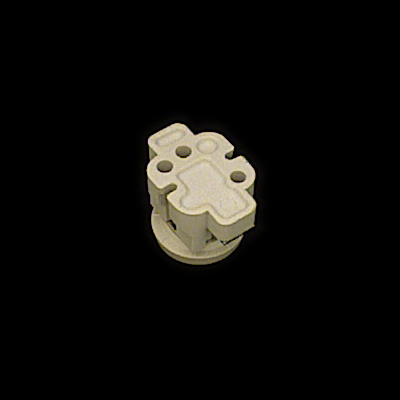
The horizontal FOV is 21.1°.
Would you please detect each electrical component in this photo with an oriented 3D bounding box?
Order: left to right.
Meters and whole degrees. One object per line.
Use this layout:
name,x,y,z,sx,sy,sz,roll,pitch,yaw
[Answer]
electrical component,0.000,0.000,0.637,0.058,0.078,0.057,-30,-30,-22
